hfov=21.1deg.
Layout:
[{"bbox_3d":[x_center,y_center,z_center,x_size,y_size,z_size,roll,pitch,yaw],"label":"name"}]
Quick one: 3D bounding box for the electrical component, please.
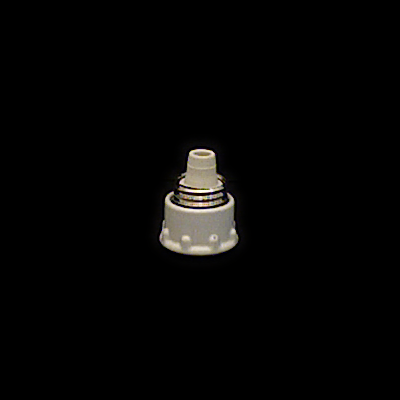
[{"bbox_3d":[0.000,0.000,0.646,0.048,0.063,0.047,2,22,0],"label":"electrical component"}]
